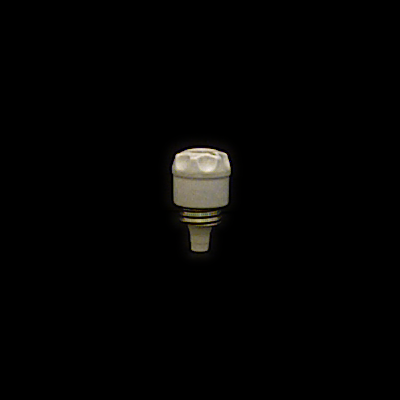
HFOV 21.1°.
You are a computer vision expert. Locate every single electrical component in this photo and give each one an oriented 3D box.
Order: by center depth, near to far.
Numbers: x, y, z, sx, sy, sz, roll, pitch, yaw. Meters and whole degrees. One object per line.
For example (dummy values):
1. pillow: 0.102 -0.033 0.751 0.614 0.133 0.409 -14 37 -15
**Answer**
1. electrical component: 0.000 0.000 0.649 0.035 0.062 0.035 1 12 0
